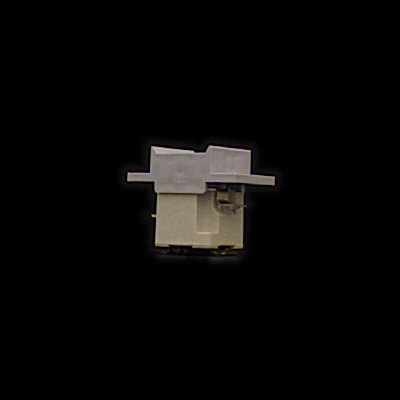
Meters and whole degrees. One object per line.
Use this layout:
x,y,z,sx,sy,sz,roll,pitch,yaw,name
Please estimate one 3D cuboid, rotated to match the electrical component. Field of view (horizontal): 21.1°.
0.000,0.000,0.651,0.080,0.064,0.042,2,2,36,electrical component
